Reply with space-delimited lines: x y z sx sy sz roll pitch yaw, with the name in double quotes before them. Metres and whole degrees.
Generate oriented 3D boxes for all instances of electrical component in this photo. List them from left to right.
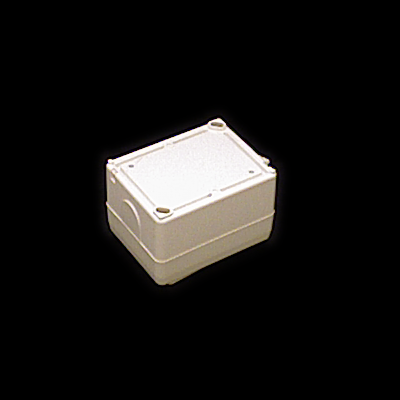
"electrical component" 0.000 0.000 0.630 0.096 0.061 0.061 -23 47 -25
